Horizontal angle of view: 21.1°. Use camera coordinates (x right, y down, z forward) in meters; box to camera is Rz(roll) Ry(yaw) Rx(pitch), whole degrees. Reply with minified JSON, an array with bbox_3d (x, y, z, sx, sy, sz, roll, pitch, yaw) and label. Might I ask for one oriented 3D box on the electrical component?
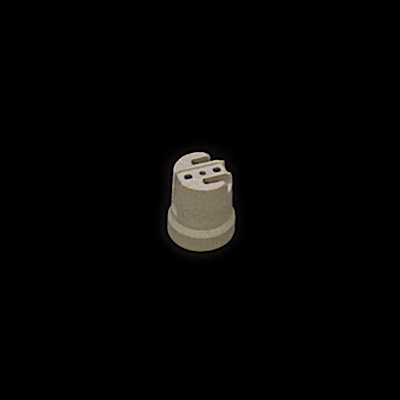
[{"bbox_3d":[0.000,0.000,0.635,0.040,0.046,0.040,0,43,0],"label":"electrical component"}]
